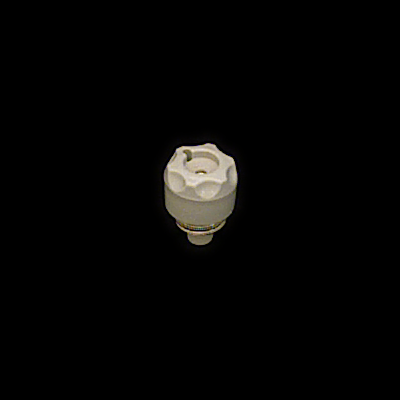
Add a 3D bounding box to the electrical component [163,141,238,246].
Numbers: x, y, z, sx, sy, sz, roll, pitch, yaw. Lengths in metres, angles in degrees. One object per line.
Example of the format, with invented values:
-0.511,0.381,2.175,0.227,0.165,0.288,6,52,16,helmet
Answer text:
0.000,0.000,0.638,0.043,0.062,0.043,1,43,0,electrical component
